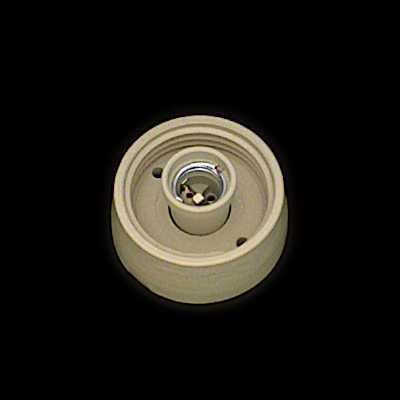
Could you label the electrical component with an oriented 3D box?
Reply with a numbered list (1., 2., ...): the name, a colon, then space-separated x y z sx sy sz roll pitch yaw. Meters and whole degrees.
1. electrical component: 0.000 0.000 0.633 0.108 0.108 0.060 0 -27 -1
